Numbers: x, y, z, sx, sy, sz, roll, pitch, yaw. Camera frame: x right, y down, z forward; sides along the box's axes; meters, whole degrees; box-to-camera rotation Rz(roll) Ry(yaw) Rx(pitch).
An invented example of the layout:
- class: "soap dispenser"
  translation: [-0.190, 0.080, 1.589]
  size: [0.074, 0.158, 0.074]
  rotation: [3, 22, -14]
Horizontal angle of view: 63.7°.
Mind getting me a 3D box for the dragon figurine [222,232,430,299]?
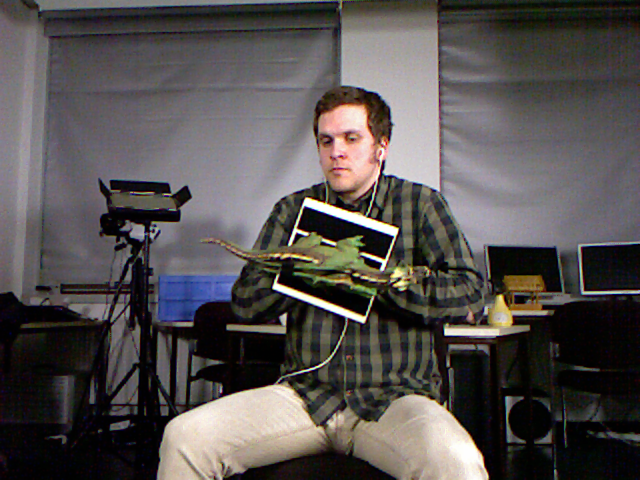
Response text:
- class: "dragon figurine"
  translation: [-0.014, 0.043, 0.925]
  size: [0.412, 0.123, 0.243]
  rotation: [5, -2, 8]
